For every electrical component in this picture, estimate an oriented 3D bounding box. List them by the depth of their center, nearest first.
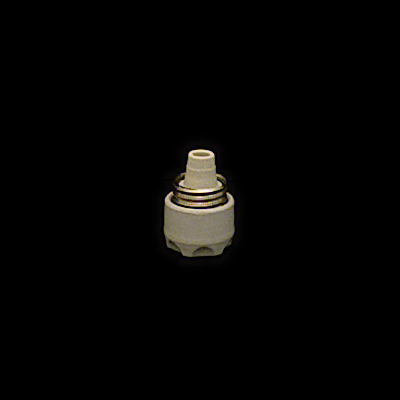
[{"bbox_3d":[0.000,0.000,0.645,0.043,0.063,0.043,2,23,0],"label":"electrical component"}]
